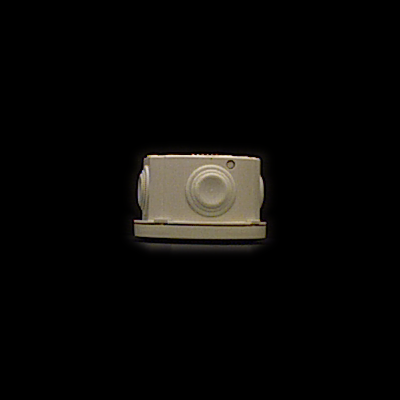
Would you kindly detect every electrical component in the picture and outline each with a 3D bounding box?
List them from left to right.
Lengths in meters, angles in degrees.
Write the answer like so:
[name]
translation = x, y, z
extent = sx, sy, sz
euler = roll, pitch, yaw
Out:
[electrical component]
translation = 0.000, 0.000, 0.650
extent = 0.080, 0.051, 0.080
euler = 1, 0, 0
